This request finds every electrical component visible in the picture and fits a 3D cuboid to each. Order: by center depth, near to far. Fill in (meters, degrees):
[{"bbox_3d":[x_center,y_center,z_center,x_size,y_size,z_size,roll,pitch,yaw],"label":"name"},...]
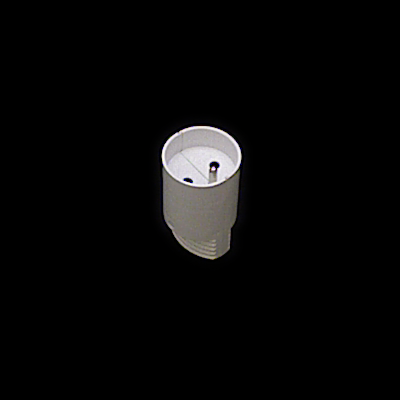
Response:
[{"bbox_3d":[0.000,0.000,0.619,0.043,0.043,0.081,0,-37,0],"label":"electrical component"}]
